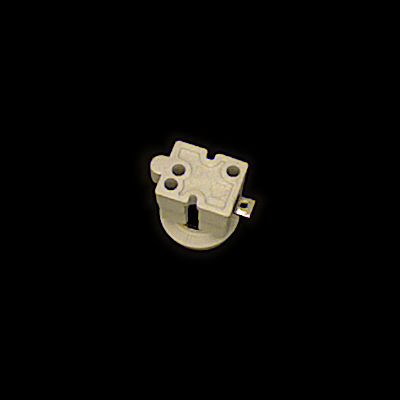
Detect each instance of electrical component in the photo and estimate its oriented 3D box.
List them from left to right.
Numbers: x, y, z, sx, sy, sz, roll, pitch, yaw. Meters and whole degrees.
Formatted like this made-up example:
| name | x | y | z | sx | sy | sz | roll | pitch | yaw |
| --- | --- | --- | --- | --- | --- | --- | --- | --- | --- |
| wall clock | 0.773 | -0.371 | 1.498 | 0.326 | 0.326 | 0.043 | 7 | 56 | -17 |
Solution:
| name | x | y | z | sx | sy | sz | roll | pitch | yaw |
| --- | --- | --- | --- | --- | --- | --- | --- | --- | --- |
| electrical component | 0.000 | 0.000 | 0.637 | 0.066 | 0.048 | 0.055 | 18 | -26 | 8 |
